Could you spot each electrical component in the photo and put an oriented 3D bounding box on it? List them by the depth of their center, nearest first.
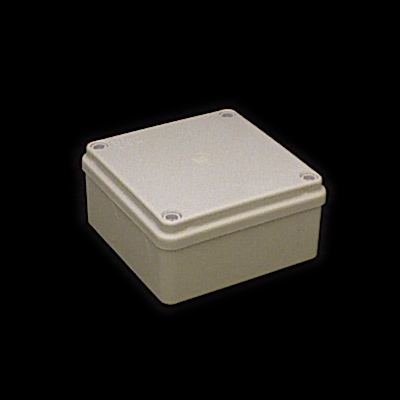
[{"bbox_3d":[0.000,0.000,0.635,0.108,0.057,0.107,-16,36,-26],"label":"electrical component"}]
